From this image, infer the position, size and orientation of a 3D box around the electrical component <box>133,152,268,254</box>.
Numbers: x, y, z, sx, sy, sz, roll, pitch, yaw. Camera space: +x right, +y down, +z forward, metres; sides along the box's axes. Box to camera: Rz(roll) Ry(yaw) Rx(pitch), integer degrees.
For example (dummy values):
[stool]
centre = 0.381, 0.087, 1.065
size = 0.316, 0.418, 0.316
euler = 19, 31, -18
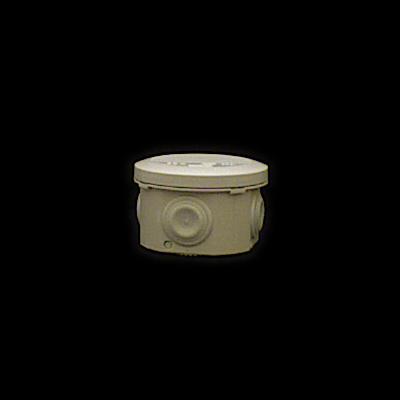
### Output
[electrical component]
centre = 0.000, 0.000, 0.645
size = 0.080, 0.051, 0.079
euler = 1, 10, 0
